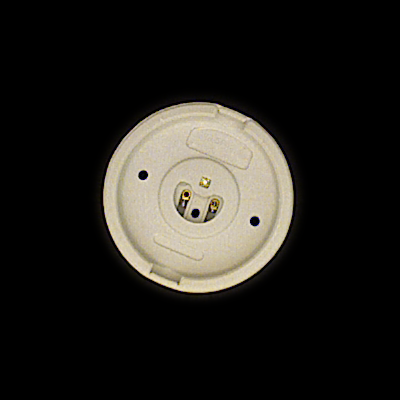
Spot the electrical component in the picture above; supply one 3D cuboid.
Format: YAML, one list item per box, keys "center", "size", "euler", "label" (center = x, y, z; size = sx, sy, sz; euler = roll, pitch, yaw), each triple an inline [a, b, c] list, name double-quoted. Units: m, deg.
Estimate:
- center: [0.000, 0.000, 0.635]
  size: [0.108, 0.108, 0.060]
  euler: [0, -5, 0]
  label: "electrical component"
